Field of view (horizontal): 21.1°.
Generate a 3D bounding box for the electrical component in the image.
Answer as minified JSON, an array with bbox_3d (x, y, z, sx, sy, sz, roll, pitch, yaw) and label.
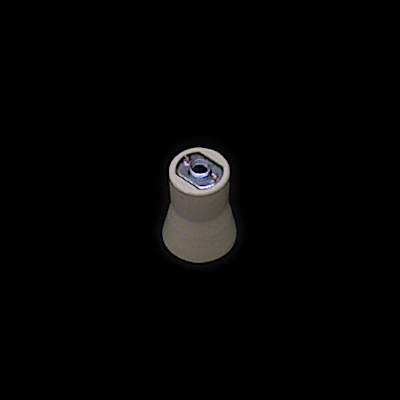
[{"bbox_3d":[0.000,0.000,0.626,0.044,0.044,0.065,0,-37,0],"label":"electrical component"}]
